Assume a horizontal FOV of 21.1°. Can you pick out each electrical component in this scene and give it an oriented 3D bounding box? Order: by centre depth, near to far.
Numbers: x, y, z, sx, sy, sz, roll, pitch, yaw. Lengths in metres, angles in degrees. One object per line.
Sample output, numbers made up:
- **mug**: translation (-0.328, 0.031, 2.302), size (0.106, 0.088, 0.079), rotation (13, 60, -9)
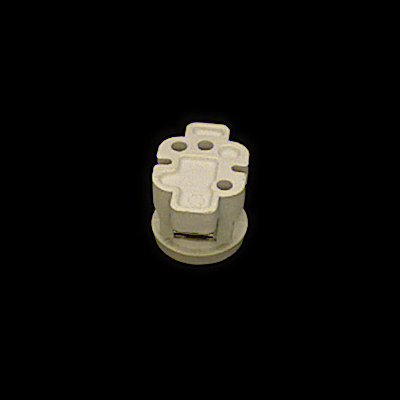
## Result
- **electrical component**: translation (0.000, 0.000, 0.638), size (0.058, 0.057, 0.078), rotation (5, 44, 4)
